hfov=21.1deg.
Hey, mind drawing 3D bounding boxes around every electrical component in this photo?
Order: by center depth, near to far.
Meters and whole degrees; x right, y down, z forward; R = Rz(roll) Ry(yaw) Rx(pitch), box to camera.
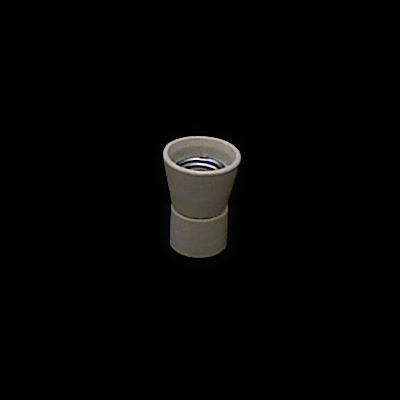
[{"bbox_3d":[0.000,0.000,0.634,0.044,0.066,0.044,2,31,-1],"label":"electrical component"}]
